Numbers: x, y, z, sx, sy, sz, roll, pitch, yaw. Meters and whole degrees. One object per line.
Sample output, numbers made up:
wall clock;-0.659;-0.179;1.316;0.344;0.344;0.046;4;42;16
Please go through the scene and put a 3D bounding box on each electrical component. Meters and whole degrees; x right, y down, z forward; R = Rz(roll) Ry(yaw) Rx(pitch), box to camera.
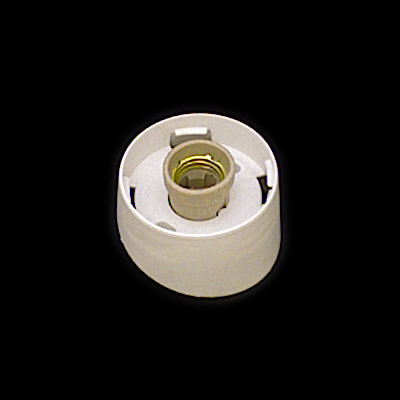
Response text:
electrical component;0.000;0.000;0.626;0.099;0.098;0.064;0;-37;-1
